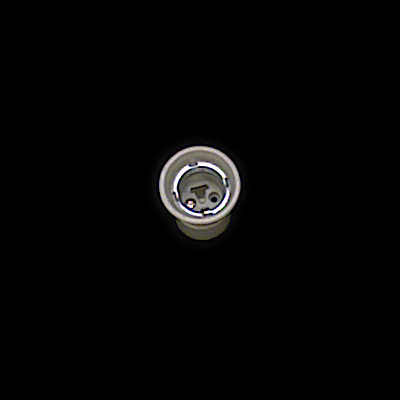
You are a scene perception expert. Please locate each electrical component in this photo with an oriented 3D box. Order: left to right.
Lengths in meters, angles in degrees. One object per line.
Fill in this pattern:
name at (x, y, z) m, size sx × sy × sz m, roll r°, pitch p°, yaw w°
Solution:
electrical component at (0.000, 0.000, 0.624) m, size 0.044 × 0.044 × 0.065 m, roll 0°, pitch -16°, yaw 1°
